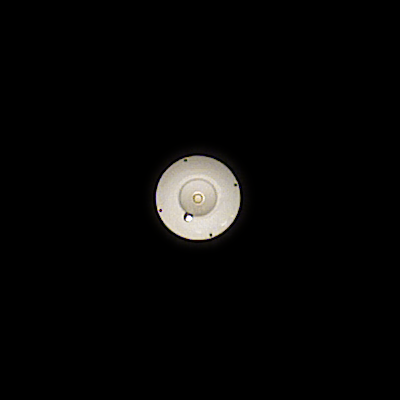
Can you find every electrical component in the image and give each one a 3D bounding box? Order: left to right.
[{"bbox_3d":[0.000,0.000,0.634,0.048,0.048,0.062,0,-6,1],"label":"electrical component"}]
